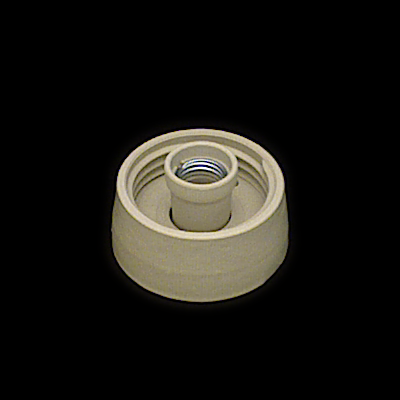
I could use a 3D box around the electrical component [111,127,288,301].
[{"bbox_3d":[0.000,0.000,0.638,0.108,0.061,0.107,1,42,0],"label":"electrical component"}]
